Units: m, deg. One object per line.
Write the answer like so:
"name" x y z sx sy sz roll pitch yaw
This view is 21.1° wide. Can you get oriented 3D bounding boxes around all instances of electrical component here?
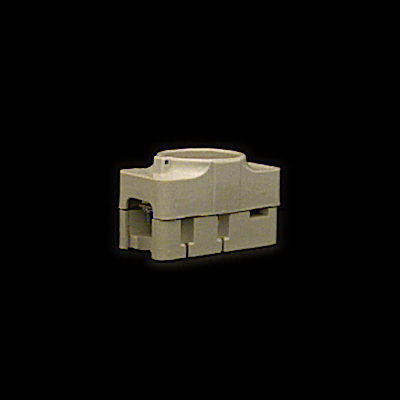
"electrical component" 0.000 0.000 0.652 0.090 0.056 0.049 -7 14 -38
